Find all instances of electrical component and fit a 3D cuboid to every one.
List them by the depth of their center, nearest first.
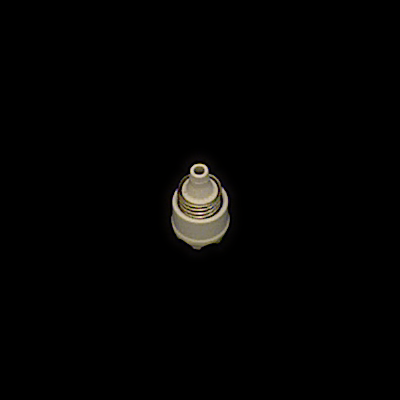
[{"bbox_3d":[0.000,0.000,0.640,0.035,0.035,0.062,0,-36,1],"label":"electrical component"}]
